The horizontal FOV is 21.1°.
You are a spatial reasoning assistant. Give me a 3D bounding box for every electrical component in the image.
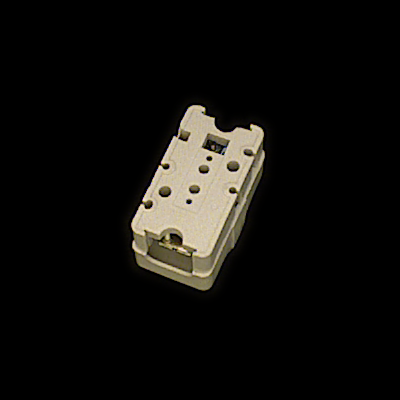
[{"bbox_3d":[0.000,0.000,0.636,0.050,0.090,0.055,20,-25,10],"label":"electrical component"}]
